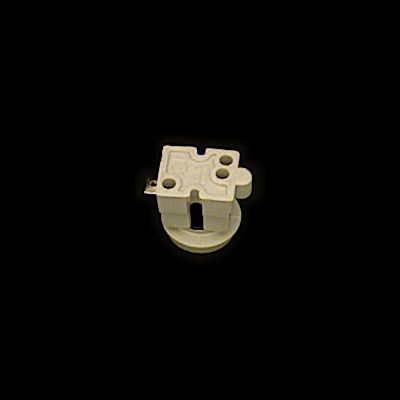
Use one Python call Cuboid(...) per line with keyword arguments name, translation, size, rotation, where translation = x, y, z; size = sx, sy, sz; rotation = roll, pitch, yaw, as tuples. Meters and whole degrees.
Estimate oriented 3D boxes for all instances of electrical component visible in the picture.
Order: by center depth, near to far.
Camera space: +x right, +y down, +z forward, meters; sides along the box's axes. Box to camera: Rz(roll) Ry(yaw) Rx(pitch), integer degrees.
Cuboid(name="electrical component", translation=(0.000, 0.000, 0.639), size=(0.066, 0.048, 0.056), rotation=(5, -36, 5))
